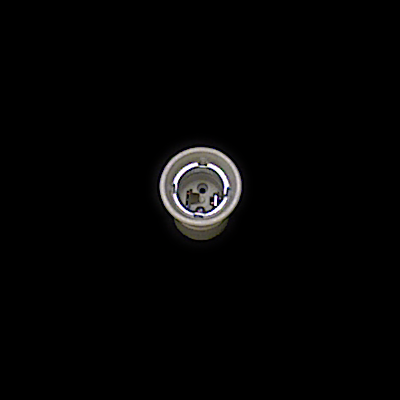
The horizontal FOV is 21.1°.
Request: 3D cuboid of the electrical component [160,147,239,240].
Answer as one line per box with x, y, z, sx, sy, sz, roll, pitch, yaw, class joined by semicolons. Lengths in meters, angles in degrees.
0.000;0.000;0.623;0.044;0.044;0.065;0;-16;0;electrical component
